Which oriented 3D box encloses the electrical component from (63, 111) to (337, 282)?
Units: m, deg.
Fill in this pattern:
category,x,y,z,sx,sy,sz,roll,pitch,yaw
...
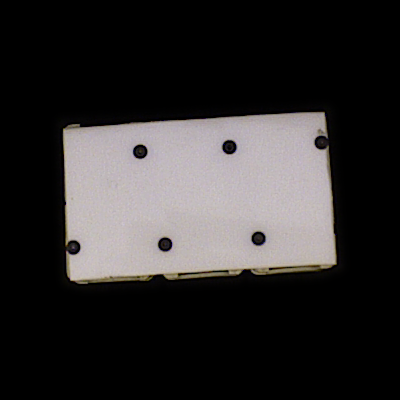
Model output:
category,x,y,z,sx,sy,sz,roll,pitch,yaw
electrical component,0.000,0.000,0.631,0.150,0.089,0.061,-3,-6,0
